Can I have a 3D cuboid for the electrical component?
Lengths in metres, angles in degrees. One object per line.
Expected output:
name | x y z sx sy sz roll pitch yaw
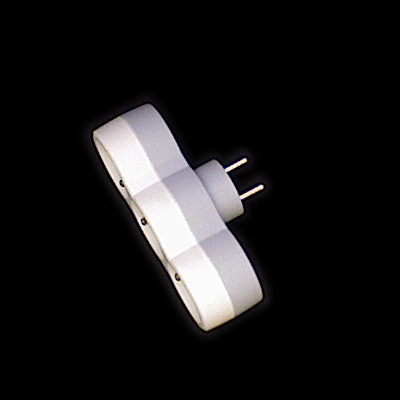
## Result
electrical component | 0.000 0.000 0.631 0.074 0.138 0.052 -29 -16 -10
